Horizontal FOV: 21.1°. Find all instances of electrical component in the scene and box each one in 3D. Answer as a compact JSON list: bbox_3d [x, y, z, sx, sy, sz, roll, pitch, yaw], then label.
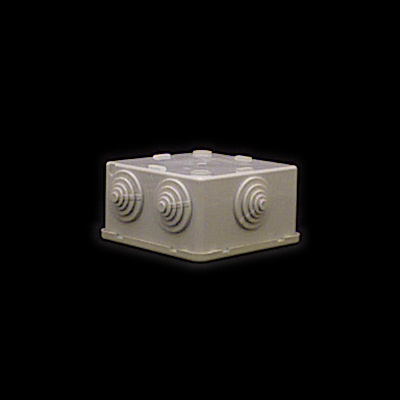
[{"bbox_3d":[0.000,0.000,0.646,0.100,0.049,0.099,-9,14,-44],"label":"electrical component"}]
